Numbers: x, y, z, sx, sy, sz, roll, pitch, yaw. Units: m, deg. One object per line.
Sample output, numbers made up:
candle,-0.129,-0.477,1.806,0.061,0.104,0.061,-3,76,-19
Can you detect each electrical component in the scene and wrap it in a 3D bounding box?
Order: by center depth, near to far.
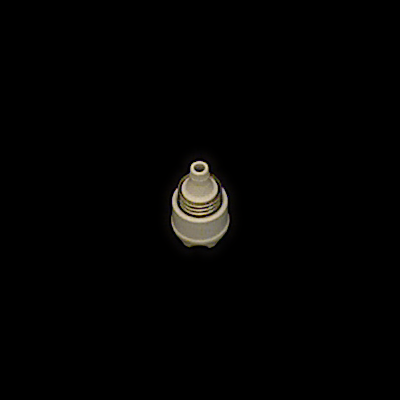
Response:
electrical component,0.000,0.000,0.639,0.035,0.035,0.062,0,-39,0
